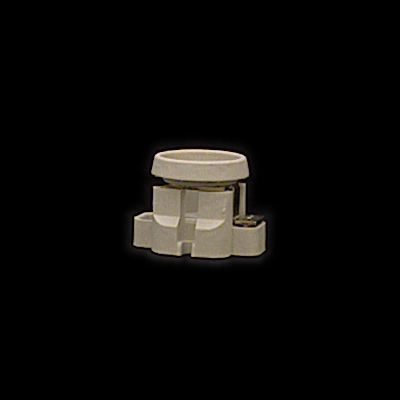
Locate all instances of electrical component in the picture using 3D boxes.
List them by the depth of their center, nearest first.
[{"bbox_3d":[0.000,0.000,0.644,0.078,0.057,0.057,4,11,17],"label":"electrical component"}]
